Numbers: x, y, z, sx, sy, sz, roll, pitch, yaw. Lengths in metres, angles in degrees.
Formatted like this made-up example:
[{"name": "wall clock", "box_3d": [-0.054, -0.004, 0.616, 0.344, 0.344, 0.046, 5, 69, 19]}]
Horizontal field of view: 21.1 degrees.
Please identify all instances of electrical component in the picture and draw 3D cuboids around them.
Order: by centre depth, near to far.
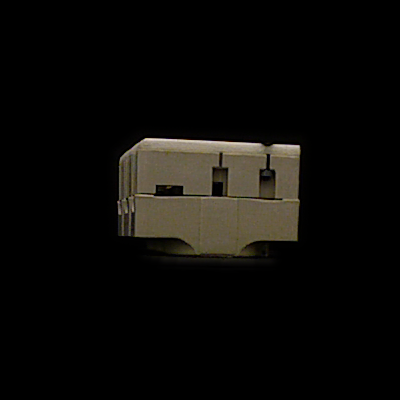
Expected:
[{"name": "electrical component", "box_3d": [0.000, 0.000, 0.654, 0.089, 0.062, 0.150, 1, 0, -8]}]
